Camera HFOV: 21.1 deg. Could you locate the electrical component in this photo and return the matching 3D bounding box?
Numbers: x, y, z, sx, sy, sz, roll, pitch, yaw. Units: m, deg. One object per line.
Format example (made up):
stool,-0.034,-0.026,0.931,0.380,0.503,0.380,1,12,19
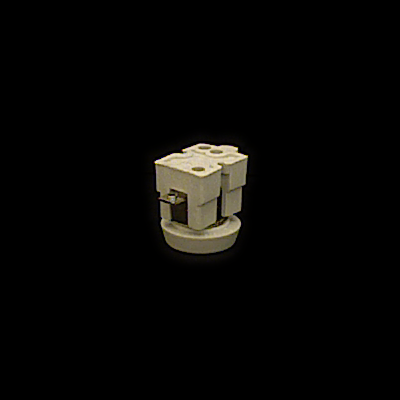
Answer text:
electrical component,0.000,0.000,0.648,0.048,0.056,0.066,19,29,35
